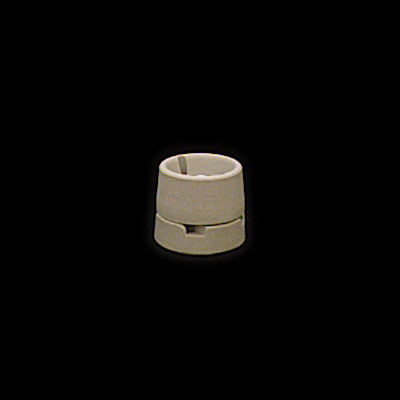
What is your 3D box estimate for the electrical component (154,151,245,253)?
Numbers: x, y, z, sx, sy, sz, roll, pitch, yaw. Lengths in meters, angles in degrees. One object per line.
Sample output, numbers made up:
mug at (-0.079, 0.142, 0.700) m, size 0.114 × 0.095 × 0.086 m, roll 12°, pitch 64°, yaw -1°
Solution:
electrical component at (0.000, 0.000, 0.643) m, size 0.055 × 0.047 × 0.055 m, roll 1°, pitch 20°, yaw 0°
